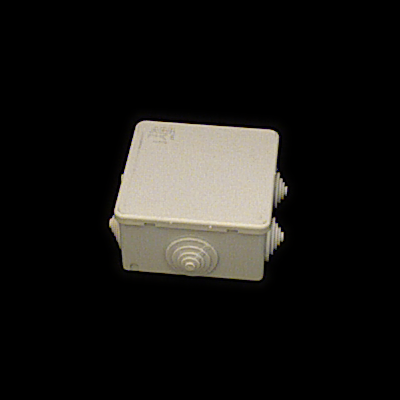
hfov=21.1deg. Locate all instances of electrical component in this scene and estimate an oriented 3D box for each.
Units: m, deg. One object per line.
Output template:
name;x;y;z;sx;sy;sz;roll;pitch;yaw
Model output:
electrical component;0.000;0.000;0.642;0.099;0.049;0.099;5;43;4
